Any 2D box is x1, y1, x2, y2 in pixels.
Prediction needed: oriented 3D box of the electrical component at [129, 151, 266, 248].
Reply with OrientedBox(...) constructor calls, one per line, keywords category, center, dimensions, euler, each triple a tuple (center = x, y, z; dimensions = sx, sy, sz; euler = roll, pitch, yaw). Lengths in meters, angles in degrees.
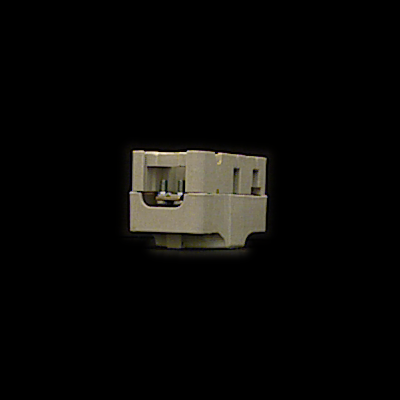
OrientedBox(category="electrical component", center=(0.000, 0.000, 0.656), dimensions=(0.050, 0.056, 0.090), euler=(3, 2, 29))
